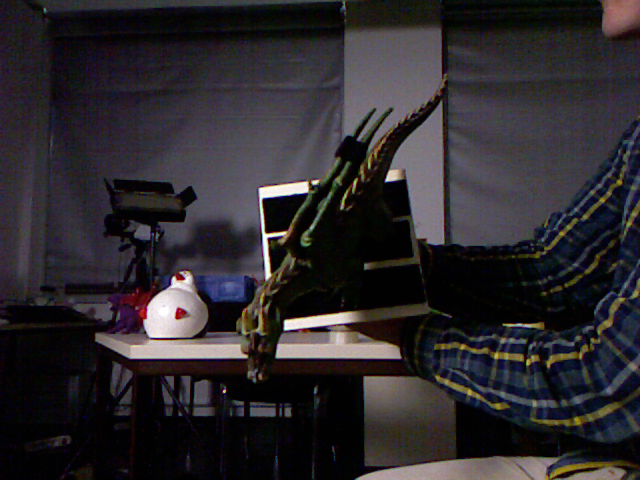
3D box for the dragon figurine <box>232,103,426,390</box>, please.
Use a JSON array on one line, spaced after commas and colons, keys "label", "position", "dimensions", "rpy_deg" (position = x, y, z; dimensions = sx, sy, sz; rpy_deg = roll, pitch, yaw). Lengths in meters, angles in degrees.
[{"label": "dragon figurine", "position": [0.024, -0.037, 0.562], "dimensions": [0.123, 0.415, 0.240], "rpy_deg": [26, -12, 11]}]
